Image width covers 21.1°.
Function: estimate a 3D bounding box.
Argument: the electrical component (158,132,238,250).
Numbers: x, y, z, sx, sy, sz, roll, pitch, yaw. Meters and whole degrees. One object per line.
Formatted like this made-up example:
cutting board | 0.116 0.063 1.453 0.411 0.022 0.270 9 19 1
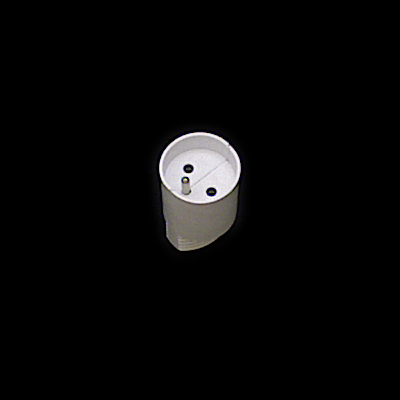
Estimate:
electrical component | 0.000 0.000 0.615 0.043 0.043 0.081 0 -27 1
